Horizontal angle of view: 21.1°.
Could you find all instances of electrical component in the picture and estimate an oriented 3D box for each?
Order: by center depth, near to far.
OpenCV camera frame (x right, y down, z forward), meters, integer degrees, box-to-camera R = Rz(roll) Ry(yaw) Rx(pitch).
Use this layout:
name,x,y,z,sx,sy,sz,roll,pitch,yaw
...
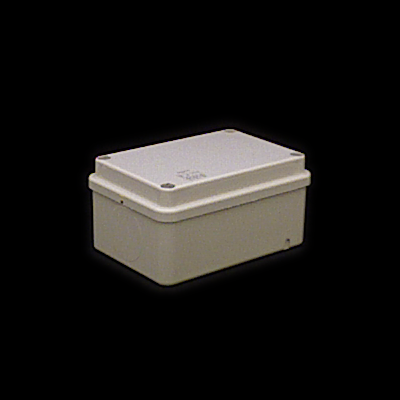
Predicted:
name,x,y,z,sx,sy,sz,roll,pitch,yaw
electrical component,0.000,0.000,0.637,0.113,0.058,0.077,-15,26,-37
